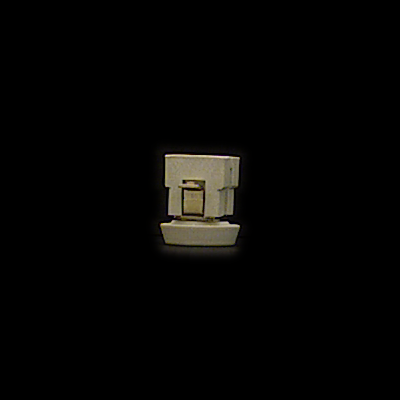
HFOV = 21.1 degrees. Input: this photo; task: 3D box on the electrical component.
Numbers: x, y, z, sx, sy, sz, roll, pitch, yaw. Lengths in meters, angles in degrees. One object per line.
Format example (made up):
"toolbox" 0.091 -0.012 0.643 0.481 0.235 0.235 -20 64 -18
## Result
"electrical component" 0.000 0.000 0.657 0.048 0.055 0.066 3 3 14
